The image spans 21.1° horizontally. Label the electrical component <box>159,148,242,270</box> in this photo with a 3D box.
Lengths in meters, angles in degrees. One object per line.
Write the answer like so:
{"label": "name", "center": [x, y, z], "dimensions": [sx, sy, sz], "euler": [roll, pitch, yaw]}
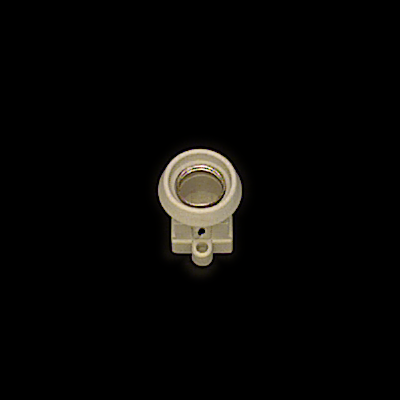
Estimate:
{"label": "electrical component", "center": [0.000, 0.000, 0.637], "dimensions": [0.048, 0.066, 0.055], "euler": [-1, -26, -2]}
